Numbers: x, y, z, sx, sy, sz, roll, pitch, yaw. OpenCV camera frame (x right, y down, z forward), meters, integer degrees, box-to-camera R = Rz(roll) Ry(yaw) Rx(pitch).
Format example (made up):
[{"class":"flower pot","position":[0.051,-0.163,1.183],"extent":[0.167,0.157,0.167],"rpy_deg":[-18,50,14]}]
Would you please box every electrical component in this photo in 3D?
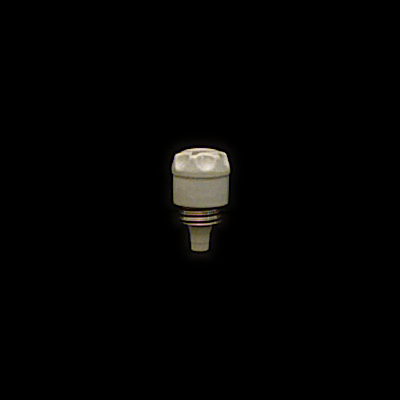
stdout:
[{"class":"electrical component","position":[0.000,0.000,0.649],"extent":[0.035,0.062,0.035],"rpy_deg":[1,12,0]}]
